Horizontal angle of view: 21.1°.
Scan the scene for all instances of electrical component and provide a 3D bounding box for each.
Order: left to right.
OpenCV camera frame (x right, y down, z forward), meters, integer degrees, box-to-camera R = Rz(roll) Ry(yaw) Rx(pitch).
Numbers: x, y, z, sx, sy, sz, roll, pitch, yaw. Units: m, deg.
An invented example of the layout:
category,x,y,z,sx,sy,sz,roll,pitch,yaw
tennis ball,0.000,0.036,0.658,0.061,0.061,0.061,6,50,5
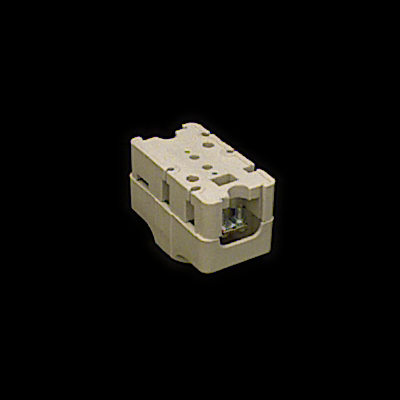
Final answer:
category,x,y,z,sx,sy,sz,roll,pitch,yaw
electrical component,0.000,0.000,0.643,0.050,0.056,0.088,-18,37,-28
